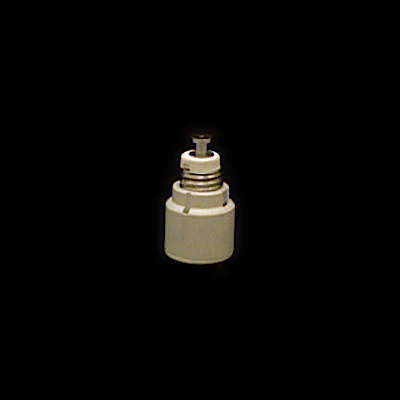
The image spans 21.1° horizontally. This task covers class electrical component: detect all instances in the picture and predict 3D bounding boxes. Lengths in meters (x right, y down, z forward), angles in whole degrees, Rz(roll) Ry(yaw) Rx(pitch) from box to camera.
[{"bbox_3d":[0.000,0.000,0.634,0.040,0.079,0.039,1,20,0],"label":"electrical component"}]
